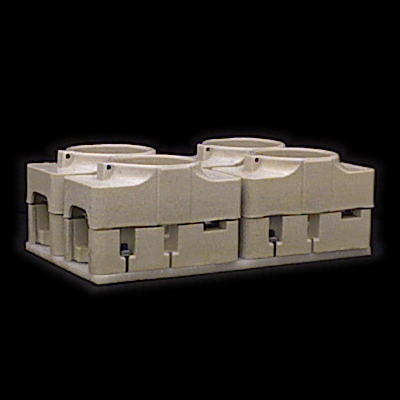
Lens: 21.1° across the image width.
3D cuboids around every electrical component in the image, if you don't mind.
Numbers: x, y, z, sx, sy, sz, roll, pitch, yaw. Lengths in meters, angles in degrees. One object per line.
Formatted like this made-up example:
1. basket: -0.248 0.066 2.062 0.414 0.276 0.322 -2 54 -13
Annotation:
1. electrical component: 0.000 0.000 0.643 0.186 0.061 0.104 -5 12 -30
